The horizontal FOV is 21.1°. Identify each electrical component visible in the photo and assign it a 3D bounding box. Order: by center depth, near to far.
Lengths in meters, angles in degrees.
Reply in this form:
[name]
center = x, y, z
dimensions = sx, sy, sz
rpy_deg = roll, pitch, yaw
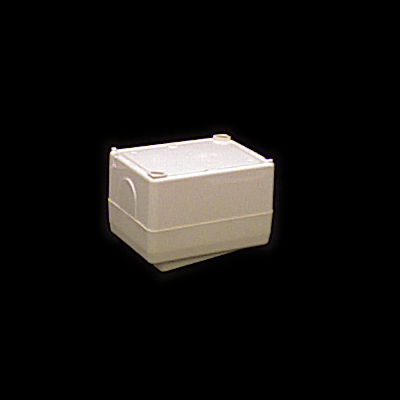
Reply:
[electrical component]
center = 0.000, 0.000, 0.638
dimensions = 0.096, 0.061, 0.061
rpy_deg = -9, 23, -27
